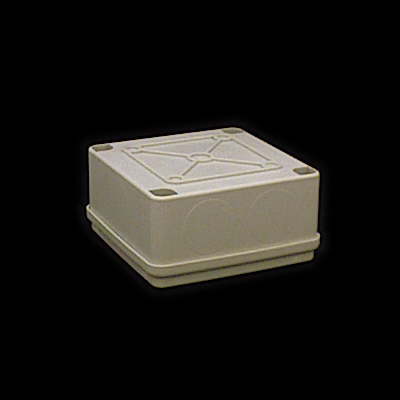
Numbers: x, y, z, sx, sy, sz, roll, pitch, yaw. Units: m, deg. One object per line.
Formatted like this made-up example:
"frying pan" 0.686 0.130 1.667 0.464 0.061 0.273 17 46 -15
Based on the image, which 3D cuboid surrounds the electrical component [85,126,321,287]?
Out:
"electrical component" 0.000 0.000 0.638 0.109 0.057 0.107 -9 23 -25
